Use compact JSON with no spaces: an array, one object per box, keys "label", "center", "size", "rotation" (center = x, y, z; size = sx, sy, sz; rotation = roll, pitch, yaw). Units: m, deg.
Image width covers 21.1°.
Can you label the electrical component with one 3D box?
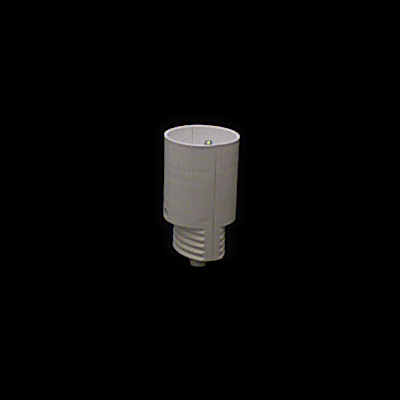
[{"label":"electrical component","center":[0.000,0.000,0.634],"size":[0.043,0.082,0.042],"rotation":[1,22,0]}]
